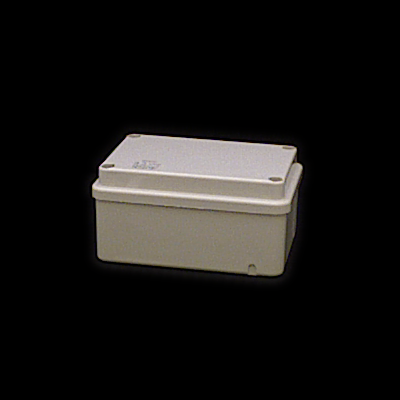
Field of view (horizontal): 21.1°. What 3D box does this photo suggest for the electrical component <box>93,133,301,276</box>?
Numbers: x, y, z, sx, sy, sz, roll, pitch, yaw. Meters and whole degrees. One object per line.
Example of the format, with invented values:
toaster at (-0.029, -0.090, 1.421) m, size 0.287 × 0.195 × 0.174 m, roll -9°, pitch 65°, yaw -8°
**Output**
electrical component at (0.000, 0.000, 0.637) m, size 0.113 × 0.058 × 0.077 m, roll 5°, pitch 21°, yaw 10°
